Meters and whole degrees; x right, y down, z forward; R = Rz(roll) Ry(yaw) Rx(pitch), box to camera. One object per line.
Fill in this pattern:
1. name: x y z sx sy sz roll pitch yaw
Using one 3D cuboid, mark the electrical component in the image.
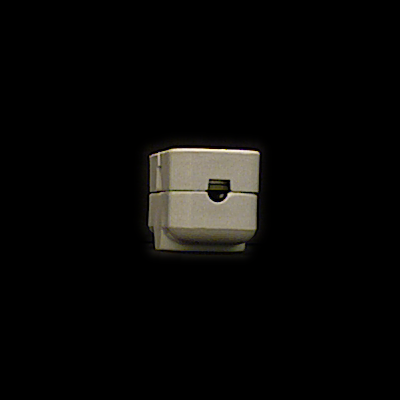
1. electrical component: 0.000 0.000 0.659 0.054 0.059 0.095 1 0 -13
